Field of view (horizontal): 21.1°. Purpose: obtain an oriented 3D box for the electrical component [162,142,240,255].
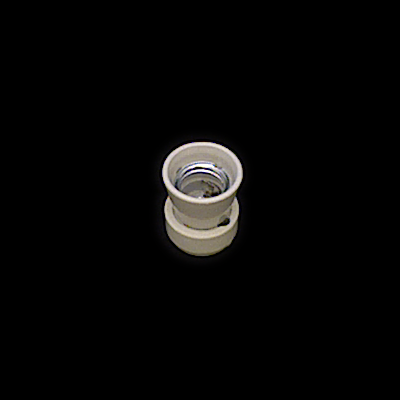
[{"bbox_3d":[0.000,0.000,0.631,0.045,0.044,0.055,0,-38,-1],"label":"electrical component"}]
